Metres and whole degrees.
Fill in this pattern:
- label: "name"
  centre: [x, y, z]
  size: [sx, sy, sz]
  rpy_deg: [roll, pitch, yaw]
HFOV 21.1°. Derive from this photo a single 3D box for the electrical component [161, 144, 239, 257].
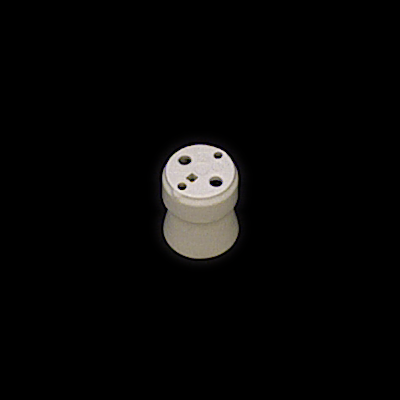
- label: "electrical component"
  centre: [0.000, 0.000, 0.630]
  size: [0.045, 0.044, 0.055]
  rpy_deg: [0, -38, 0]
